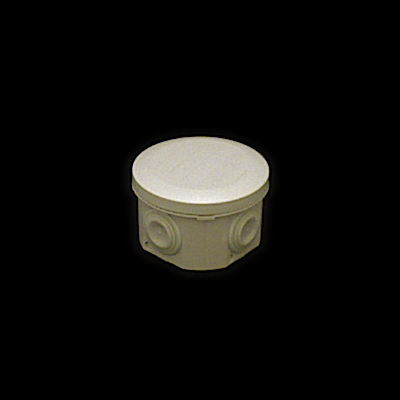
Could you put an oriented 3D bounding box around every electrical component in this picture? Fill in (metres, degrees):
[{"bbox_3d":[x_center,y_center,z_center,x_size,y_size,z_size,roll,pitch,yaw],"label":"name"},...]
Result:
[{"bbox_3d":[0.000,0.000,0.634,0.080,0.051,0.079,1,31,0],"label":"electrical component"}]
